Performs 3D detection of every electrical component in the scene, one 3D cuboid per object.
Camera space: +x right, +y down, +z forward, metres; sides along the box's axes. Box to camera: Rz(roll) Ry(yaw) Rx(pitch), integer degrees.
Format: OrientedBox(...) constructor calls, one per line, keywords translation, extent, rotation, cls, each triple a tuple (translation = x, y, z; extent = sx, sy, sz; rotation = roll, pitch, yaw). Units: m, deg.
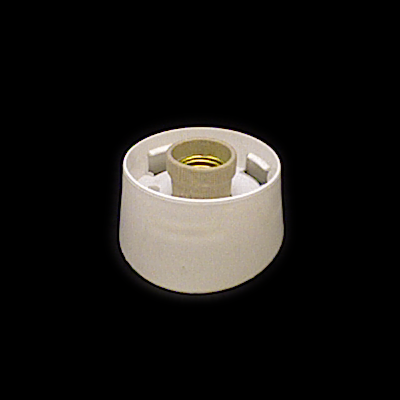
OrientedBox(translation=(0.000, 0.000, 0.634), extent=(0.099, 0.065, 0.097), rotation=(1, 32, 0), cls="electrical component")
